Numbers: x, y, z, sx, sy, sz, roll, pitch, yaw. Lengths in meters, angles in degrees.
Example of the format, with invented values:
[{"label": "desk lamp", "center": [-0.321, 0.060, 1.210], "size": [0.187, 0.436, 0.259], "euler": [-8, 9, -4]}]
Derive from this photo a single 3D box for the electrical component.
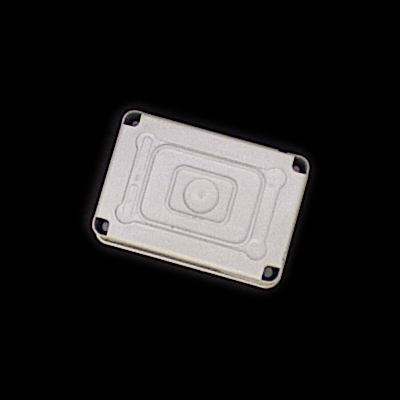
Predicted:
[{"label": "electrical component", "center": [0.000, 0.000, 0.629], "size": [0.113, 0.078, 0.057], "euler": [16, -6, 2]}]
